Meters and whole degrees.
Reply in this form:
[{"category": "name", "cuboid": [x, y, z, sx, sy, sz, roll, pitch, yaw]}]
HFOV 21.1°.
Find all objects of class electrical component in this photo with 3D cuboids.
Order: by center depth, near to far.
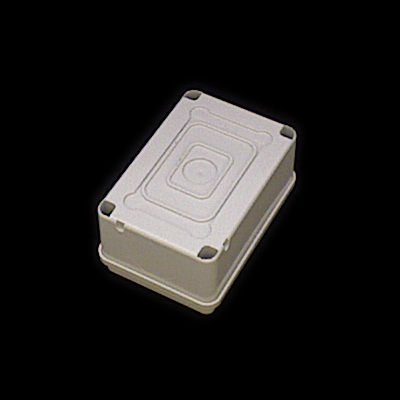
[{"category": "electrical component", "cuboid": [0.000, 0.000, 0.629, 0.078, 0.113, 0.057, 23, -35, 17]}]
